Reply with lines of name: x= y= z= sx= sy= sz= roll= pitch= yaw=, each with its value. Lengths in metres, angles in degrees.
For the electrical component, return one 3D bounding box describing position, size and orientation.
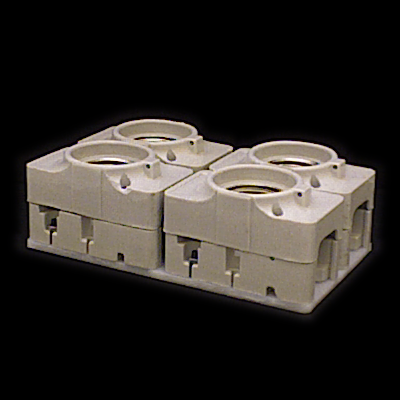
electrical component: x=0.000 y=0.000 z=0.639 sx=0.185 sy=0.061 sz=0.104 roll=11 pitch=23 yaw=25
